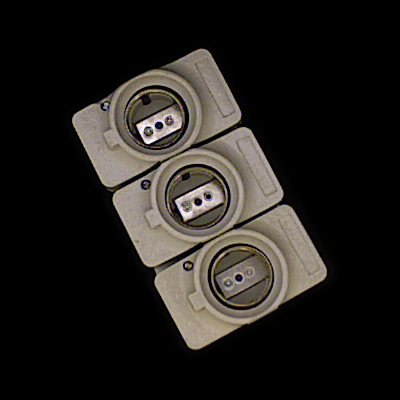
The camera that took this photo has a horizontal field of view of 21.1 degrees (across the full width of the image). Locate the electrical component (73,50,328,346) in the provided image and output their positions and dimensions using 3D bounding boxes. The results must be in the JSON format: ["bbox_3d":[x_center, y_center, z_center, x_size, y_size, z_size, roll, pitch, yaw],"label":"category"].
[{"bbox_3d":[0.000,0.000,0.632,0.089,0.150,0.061,-28,-6,-2],"label":"electrical component"}]
